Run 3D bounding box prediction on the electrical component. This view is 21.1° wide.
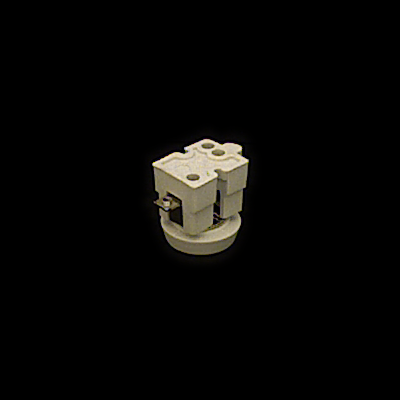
[{"bbox_3d":[0.000,0.000,0.644,0.067,0.056,0.047,-27,43,-35],"label":"electrical component"}]
